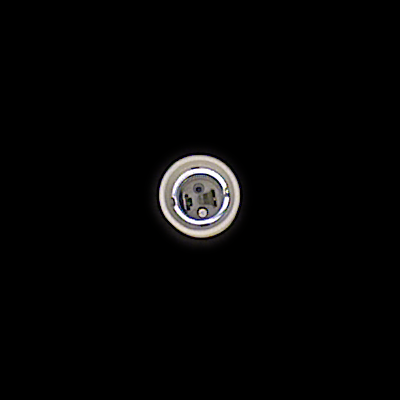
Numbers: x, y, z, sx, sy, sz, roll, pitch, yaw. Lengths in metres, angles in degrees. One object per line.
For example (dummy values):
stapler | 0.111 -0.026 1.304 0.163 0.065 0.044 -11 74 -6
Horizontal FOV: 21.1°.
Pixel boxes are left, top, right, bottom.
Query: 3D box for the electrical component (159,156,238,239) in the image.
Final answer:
electrical component | 0.000 0.000 0.629 0.045 0.045 0.055 0 -6 1
